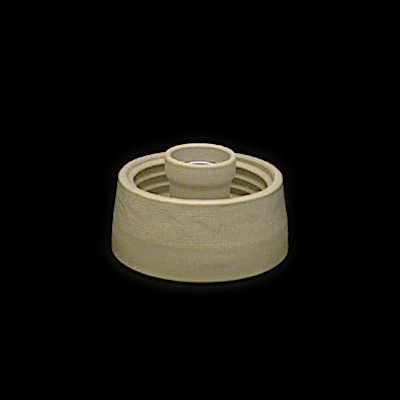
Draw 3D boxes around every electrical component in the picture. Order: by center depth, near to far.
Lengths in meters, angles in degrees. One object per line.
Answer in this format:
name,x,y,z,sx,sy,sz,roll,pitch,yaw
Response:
electrical component,0.000,0.000,0.645,0.108,0.061,0.106,1,22,0
